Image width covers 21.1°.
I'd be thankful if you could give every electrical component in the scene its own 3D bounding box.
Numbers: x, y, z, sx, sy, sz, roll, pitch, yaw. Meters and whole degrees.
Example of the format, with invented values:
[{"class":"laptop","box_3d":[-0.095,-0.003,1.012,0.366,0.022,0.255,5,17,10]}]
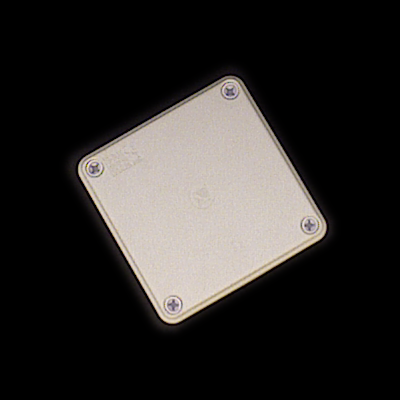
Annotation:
[{"class":"electrical component","box_3d":[0.000,0.000,0.630,0.109,0.109,0.056,-30,-5,-3]}]
